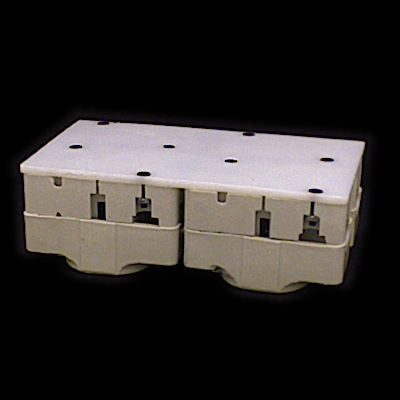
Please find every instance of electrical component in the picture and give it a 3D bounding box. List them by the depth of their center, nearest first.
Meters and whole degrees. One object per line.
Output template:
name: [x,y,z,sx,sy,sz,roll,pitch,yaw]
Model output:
electrical component: [0.000,0.000,0.638,0.186,0.061,0.104,6,21,11]
